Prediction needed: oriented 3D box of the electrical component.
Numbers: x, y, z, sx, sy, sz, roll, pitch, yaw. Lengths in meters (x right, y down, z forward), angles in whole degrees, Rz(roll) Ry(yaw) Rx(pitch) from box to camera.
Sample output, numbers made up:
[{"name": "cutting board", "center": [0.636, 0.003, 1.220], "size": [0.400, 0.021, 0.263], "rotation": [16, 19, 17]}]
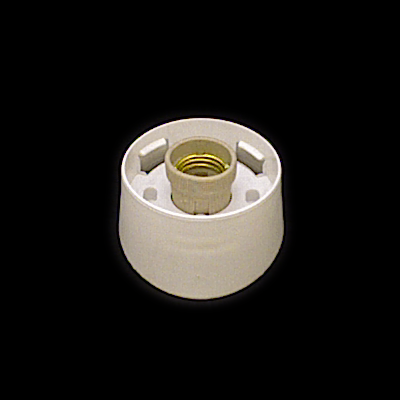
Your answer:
[{"name": "electrical component", "center": [0.000, 0.000, 0.630], "size": [0.099, 0.065, 0.098], "rotation": [1, 42, 0]}]
